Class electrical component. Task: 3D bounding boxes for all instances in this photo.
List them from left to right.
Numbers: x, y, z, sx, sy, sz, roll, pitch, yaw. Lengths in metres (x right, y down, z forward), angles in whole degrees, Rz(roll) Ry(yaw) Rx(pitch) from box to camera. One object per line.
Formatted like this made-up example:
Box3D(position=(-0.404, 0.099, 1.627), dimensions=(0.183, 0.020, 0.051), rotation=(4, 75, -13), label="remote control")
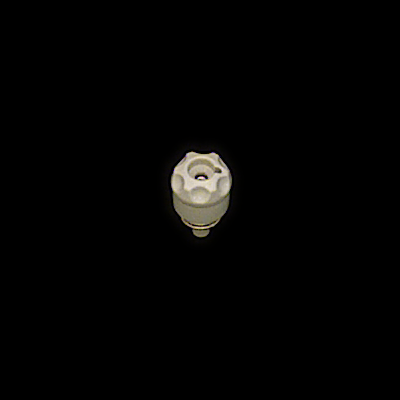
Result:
Box3D(position=(0.000, 0.000, 0.634), dimensions=(0.035, 0.035, 0.061), rotation=(0, -37, 0), label="electrical component")
